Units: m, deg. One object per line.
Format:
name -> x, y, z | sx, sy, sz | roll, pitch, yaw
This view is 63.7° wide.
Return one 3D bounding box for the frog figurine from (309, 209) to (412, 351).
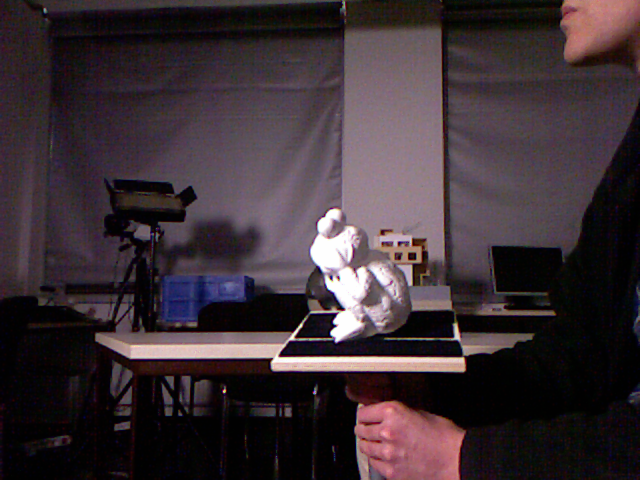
frog figurine -> 0.050, 0.040, 0.622 | 0.123, 0.158, 0.139 | 2, 11, 21
